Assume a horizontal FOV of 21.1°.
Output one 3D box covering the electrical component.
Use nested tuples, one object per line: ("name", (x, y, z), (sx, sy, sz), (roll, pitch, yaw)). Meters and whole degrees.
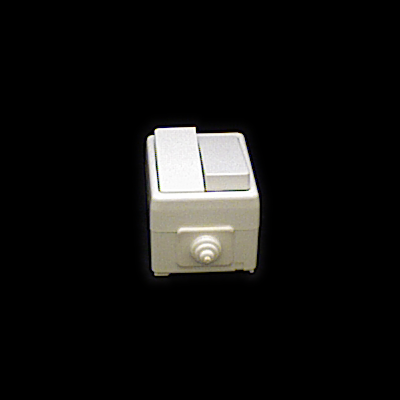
("electrical component", (0.000, 0.000, 0.632), (0.062, 0.061, 0.095), (-2, 31, -4))
